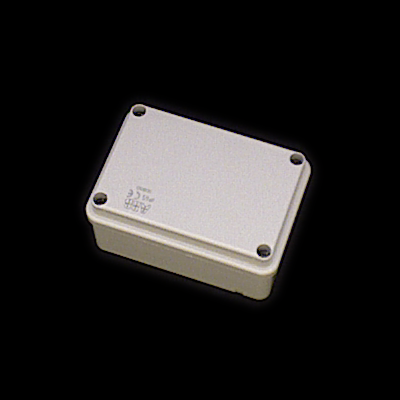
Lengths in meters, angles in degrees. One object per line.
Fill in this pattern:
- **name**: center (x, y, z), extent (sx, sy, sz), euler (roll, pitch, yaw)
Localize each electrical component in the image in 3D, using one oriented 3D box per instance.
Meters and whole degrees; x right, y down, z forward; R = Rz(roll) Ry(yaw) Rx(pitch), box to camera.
- **electrical component**: center (0.000, 0.000, 0.626), extent (0.113, 0.078, 0.057), euler (17, -26, 8)
